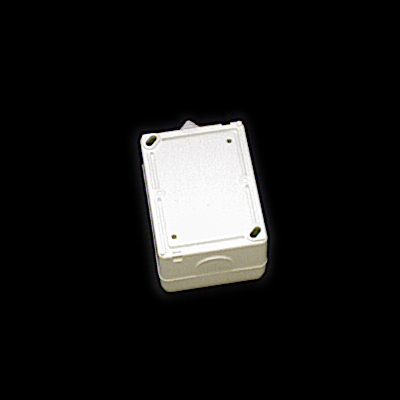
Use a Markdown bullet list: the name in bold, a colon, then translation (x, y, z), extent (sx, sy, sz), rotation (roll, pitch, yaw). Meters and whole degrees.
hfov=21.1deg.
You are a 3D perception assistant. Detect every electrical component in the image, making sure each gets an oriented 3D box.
- **electrical component**: translation (0.000, 0.000, 0.629), extent (0.062, 0.096, 0.061), rotation (-9, -27, -4)
